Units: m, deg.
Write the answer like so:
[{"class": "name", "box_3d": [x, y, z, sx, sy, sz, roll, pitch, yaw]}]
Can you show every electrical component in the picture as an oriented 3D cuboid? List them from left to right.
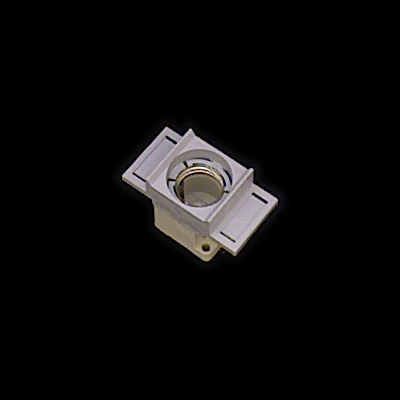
[{"class": "electrical component", "box_3d": [0.000, 0.000, 0.624, 0.081, 0.042, 0.063, 34, -23, 16]}]
